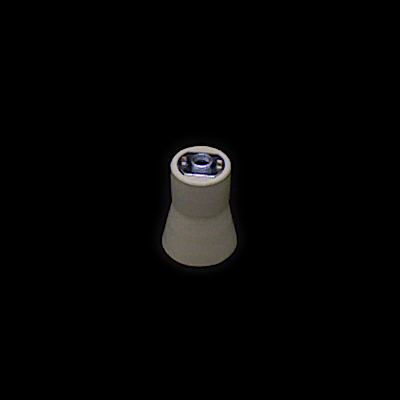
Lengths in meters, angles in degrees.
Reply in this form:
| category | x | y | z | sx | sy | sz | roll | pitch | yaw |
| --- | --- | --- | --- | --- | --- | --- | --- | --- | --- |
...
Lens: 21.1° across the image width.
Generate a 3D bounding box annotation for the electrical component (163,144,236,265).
| category | x | y | z | sx | sy | sz | roll | pitch | yaw |
| --- | --- | --- | --- | --- | --- | --- | --- | --- | --- |
| electrical component | 0.000 | 0.000 | 0.628 | 0.044 | 0.066 | 0.044 | 1 | 43 | 0 |
